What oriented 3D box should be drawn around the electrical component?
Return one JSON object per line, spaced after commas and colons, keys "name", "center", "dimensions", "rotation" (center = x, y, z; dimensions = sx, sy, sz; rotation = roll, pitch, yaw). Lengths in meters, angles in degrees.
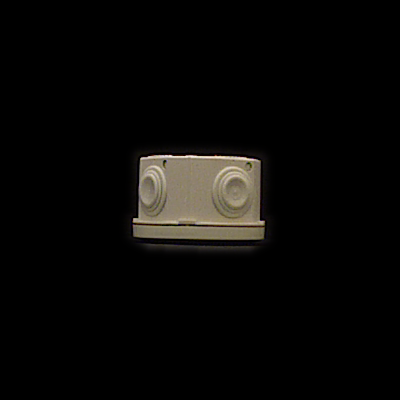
{"name": "electrical component", "center": [0.000, 0.000, 0.652], "dimensions": [0.080, 0.051, 0.080], "rotation": [1, 0, 0]}
